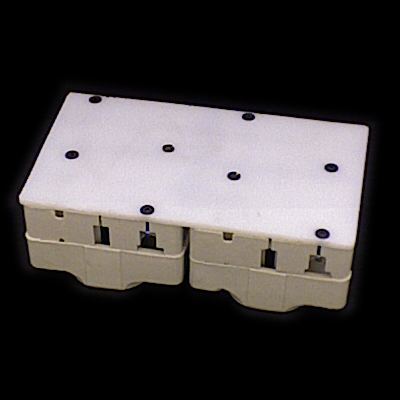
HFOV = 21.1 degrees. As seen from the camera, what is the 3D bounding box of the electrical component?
[{"bbox_3d":[0.000,0.000,0.630,0.186,0.061,0.104,8,43,7],"label":"electrical component"}]
